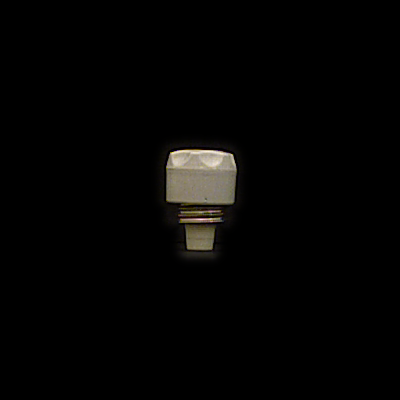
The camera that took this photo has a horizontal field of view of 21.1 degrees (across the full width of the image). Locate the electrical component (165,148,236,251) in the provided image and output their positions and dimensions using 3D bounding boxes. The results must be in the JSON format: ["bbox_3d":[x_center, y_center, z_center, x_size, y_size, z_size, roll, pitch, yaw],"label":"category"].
[{"bbox_3d":[0.000,0.000,0.656,0.043,0.062,0.043,1,3,0],"label":"electrical component"}]
